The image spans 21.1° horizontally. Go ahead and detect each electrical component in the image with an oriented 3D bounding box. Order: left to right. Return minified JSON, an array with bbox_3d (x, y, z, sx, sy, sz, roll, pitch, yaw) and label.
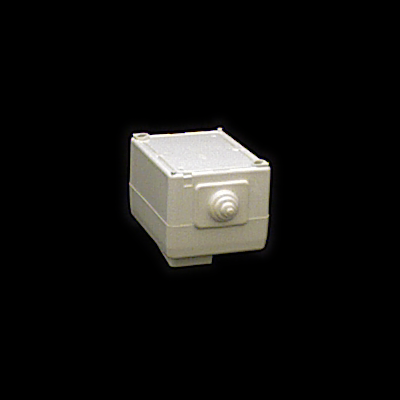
[{"bbox_3d":[0.000,0.000,0.633,0.061,0.061,0.095,-6,21,-19],"label":"electrical component"}]
